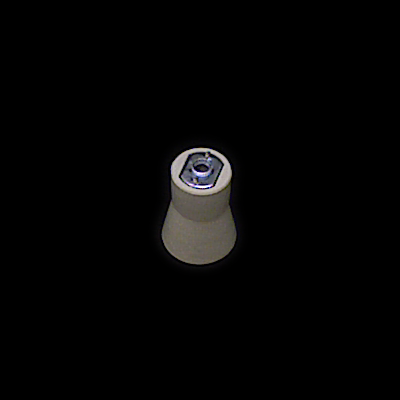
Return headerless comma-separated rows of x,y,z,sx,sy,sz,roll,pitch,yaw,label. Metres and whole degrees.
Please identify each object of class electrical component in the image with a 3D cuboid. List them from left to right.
0.000,0.000,0.626,0.044,0.044,0.065,0,-38,-2,electrical component
